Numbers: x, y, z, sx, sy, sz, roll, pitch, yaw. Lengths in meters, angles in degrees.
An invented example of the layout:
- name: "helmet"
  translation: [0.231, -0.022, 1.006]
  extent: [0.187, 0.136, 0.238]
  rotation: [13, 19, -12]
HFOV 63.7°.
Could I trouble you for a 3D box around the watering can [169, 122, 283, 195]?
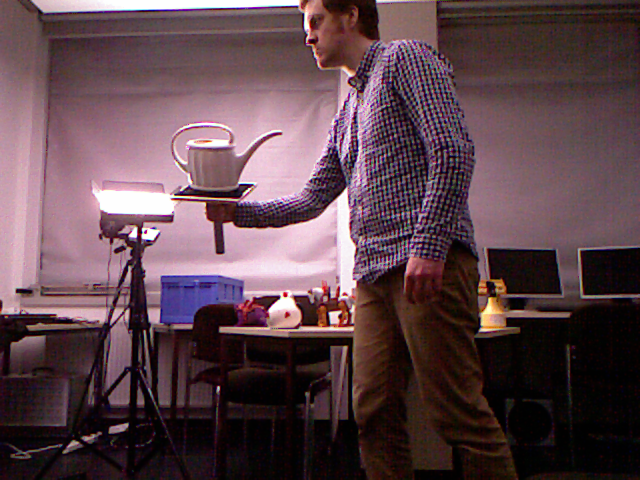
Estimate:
- name: "watering can"
  translation: [-0.280, -0.240, 1.540]
  extent: [0.348, 0.221, 0.106]
  rotation: [2, 23, 7]
